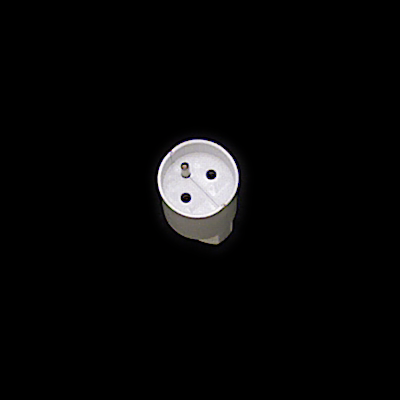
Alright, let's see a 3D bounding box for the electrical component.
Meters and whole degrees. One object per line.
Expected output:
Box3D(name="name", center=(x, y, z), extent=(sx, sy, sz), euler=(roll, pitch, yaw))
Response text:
Box3D(name="electrical component", center=(0.000, 0.000, 0.615), extent=(0.043, 0.043, 0.080), euler=(0, -17, 0))
